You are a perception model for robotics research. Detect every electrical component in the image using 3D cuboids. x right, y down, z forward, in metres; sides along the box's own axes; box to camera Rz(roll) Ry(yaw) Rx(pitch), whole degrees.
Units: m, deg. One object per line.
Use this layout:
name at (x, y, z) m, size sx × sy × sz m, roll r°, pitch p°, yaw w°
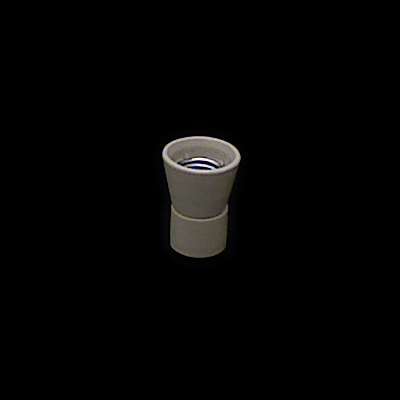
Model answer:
electrical component at (0.000, 0.000, 0.635) m, size 0.044 × 0.066 × 0.044 m, roll 1°, pitch 31°, yaw -1°
